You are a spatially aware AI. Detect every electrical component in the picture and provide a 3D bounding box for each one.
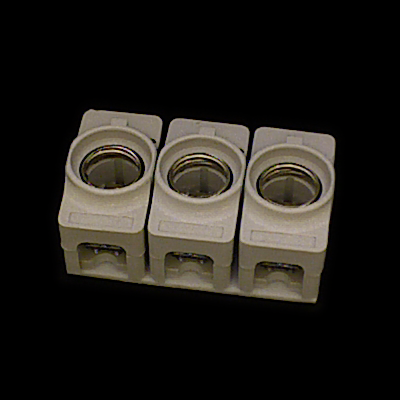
[{"bbox_3d":[0.000,0.000,0.635,0.150,0.088,0.062,6,-38,4],"label":"electrical component"}]
